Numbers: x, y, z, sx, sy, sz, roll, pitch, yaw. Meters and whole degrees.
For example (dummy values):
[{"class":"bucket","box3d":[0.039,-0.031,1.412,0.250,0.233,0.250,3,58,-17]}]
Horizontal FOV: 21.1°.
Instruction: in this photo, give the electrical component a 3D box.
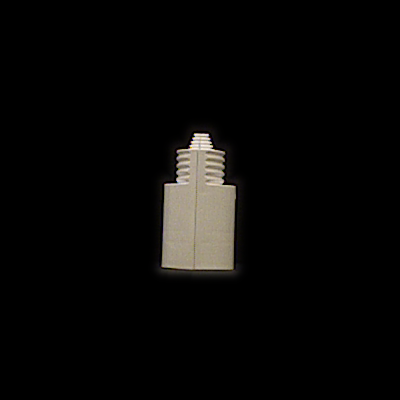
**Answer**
[{"class":"electrical component","box3d":[0.000,0.000,0.649,0.043,0.081,0.043,1,1,0]}]
